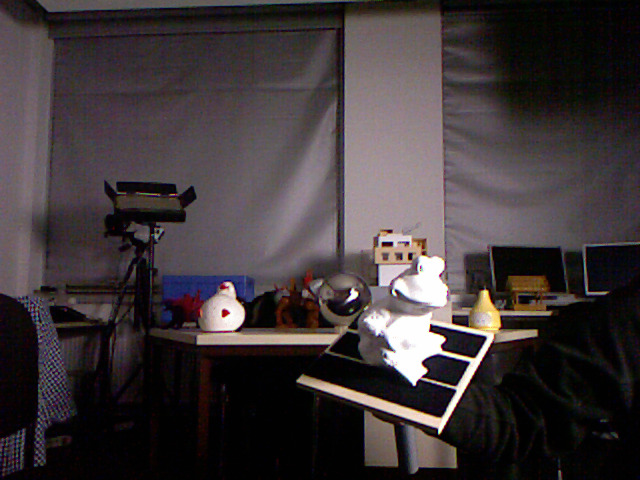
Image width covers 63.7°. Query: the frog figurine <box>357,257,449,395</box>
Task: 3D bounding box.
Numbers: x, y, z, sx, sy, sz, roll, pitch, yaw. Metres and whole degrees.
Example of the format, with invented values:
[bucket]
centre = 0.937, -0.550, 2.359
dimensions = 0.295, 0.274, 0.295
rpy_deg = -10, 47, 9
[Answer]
[frog figurine]
centre = 0.107, 0.095, 0.675
dimensions = 0.139, 0.156, 0.124
rpy_deg = -23, 28, -31
